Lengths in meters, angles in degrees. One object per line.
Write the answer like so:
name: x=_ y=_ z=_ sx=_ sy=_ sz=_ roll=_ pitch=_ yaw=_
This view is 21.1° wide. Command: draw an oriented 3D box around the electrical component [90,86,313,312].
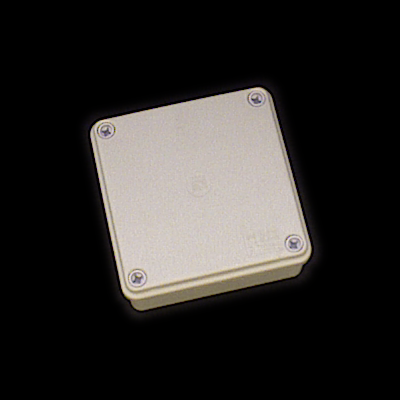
electrical component: x=0.000 y=0.000 z=0.629 sx=0.109 sy=0.109 sz=0.056 roll=-12 pitch=-17 yaw=-4
